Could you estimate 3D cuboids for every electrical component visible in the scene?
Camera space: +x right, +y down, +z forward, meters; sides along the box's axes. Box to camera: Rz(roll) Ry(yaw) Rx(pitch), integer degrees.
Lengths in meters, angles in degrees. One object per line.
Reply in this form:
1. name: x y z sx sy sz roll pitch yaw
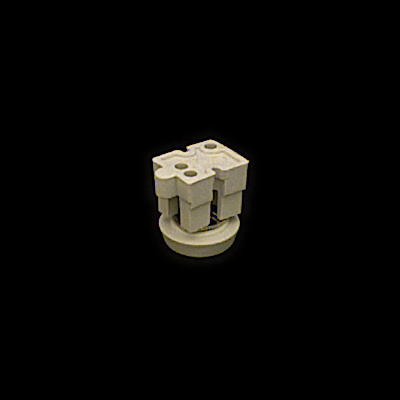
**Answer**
1. electrical component: 0.000 0.000 0.642 0.067 0.056 0.047 -21 37 -32
